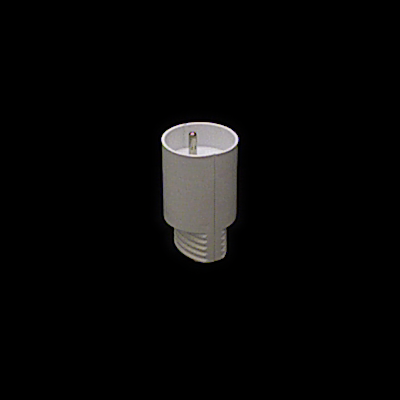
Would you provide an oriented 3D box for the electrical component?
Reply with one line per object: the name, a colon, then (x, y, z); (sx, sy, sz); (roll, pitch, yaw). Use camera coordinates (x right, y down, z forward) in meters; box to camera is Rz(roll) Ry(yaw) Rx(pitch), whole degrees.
electrical component: (0.000, 0.000, 0.628); (0.043, 0.082, 0.042); (1, 31, 0)
